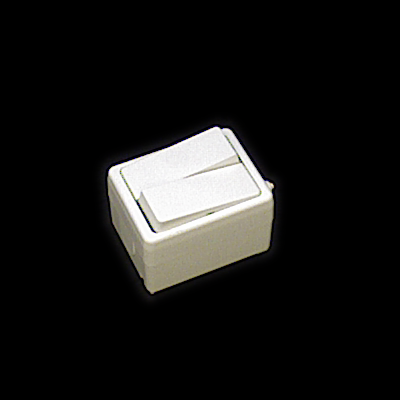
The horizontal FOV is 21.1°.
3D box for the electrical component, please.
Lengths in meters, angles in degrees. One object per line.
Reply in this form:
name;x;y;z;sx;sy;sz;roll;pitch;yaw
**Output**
electrical component;0.000;0.000;0.629;0.096;0.061;0.061;-20;-35;-15
